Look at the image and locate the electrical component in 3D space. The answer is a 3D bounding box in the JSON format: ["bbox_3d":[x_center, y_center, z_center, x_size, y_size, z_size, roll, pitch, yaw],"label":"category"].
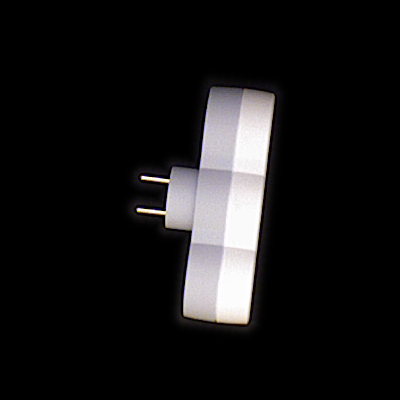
[{"bbox_3d":[0.000,0.000,0.631,0.074,0.138,0.052,6,-6,3],"label":"electrical component"}]
